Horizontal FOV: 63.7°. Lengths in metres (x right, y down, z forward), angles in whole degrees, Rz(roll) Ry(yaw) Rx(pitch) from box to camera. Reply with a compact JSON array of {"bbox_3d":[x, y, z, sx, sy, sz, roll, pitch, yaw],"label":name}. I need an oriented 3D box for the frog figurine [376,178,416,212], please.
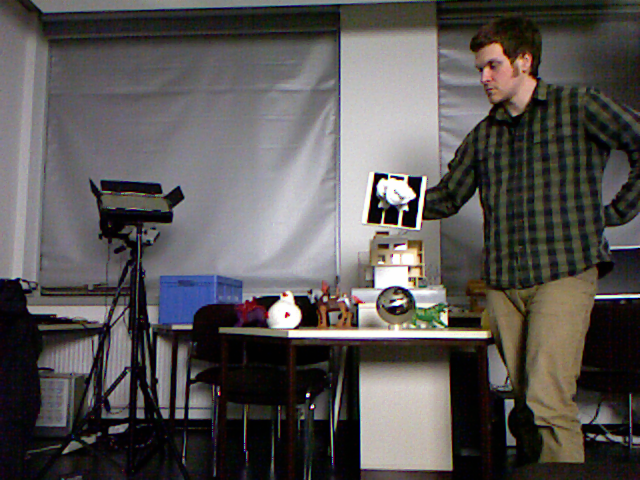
[{"bbox_3d":[0.259,-0.169,1.769,0.138,0.124,0.157,29,-16,16],"label":"frog figurine"}]
